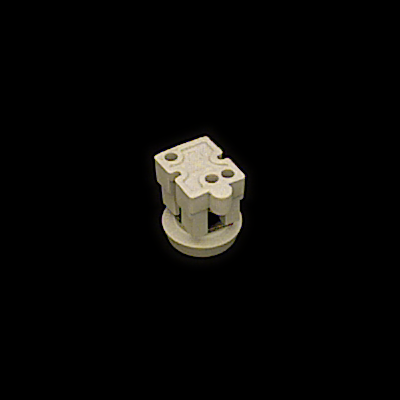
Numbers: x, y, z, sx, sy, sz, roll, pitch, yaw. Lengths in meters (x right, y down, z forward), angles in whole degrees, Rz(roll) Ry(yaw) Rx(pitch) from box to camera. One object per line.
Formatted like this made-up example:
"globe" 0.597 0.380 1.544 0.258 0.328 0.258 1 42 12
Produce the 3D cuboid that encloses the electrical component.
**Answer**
"electrical component" 0.000 0.000 0.640 0.048 0.056 0.065 -22 47 -21
